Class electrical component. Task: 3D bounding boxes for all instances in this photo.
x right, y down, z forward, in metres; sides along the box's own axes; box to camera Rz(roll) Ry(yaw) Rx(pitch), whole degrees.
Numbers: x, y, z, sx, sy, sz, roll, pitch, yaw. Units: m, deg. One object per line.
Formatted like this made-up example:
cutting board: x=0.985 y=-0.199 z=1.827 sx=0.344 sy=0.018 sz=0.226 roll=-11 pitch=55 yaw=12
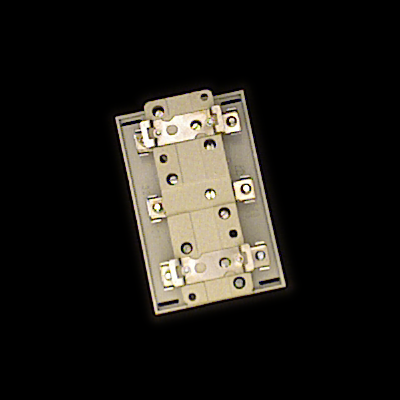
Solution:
electrical component: x=0.000 y=0.000 z=0.634 sx=0.079 sy=0.121 sz=0.063 roll=-12 pitch=-6 yaw=0
